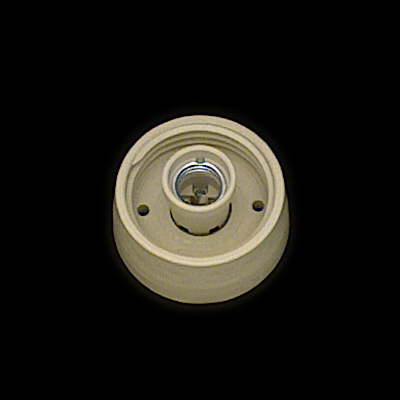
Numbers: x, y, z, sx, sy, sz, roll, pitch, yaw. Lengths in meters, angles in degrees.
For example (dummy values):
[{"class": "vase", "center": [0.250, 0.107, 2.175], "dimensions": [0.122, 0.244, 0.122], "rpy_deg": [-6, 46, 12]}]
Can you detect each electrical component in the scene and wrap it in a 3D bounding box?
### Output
[{"class": "electrical component", "center": [0.000, 0.000, 0.634], "dimensions": [0.108, 0.108, 0.060], "rpy_deg": [0, -26, 0]}]
